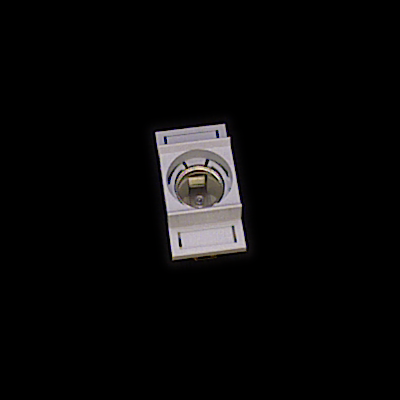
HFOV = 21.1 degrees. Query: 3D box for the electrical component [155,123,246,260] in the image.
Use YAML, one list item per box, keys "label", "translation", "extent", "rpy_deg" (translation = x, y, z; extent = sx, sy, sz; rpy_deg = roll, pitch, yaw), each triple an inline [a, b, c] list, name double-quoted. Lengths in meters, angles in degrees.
- label: "electrical component"
  translation: [0.000, 0.000, 0.625]
  extent: [0.042, 0.081, 0.064]
  rpy_deg: [-7, -26, -3]
